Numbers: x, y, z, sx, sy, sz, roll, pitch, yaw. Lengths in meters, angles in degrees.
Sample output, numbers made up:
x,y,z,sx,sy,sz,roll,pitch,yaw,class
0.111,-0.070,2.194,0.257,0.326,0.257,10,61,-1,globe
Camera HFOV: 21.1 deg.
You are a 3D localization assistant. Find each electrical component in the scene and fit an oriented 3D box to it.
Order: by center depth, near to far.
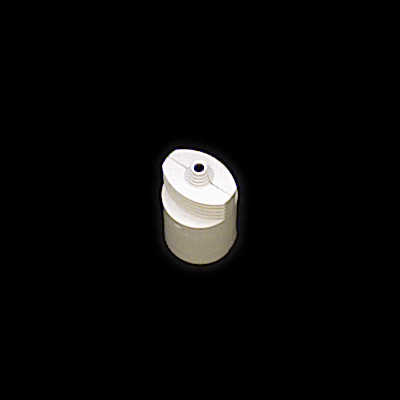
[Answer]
x,y,z,sx,sy,sz,roll,pitch,yaw,class
0.000,0.000,0.617,0.043,0.043,0.081,0,-27,0,electrical component
